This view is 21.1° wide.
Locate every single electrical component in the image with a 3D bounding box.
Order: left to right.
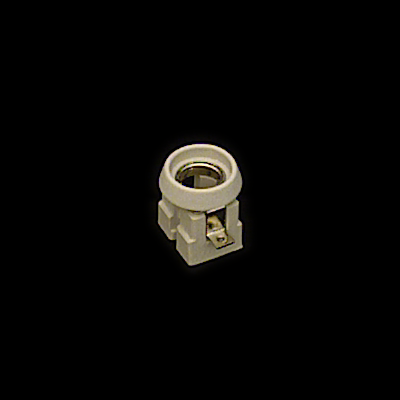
[{"bbox_3d":[0.000,0.000,0.640,0.048,0.056,0.065,-22,47,-20],"label":"electrical component"}]
